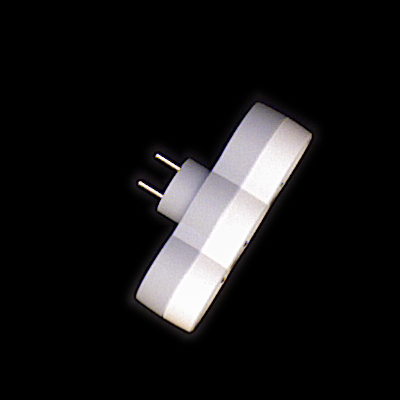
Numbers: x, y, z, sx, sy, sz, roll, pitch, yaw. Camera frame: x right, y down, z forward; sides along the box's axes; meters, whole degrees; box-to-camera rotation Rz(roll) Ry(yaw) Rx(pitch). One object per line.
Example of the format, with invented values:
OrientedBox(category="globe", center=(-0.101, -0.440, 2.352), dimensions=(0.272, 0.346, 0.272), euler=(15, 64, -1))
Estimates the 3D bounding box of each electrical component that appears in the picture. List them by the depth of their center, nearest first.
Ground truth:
OrientedBox(category="electrical component", center=(0.000, 0.000, 0.631), dimensions=(0.074, 0.138, 0.052), euler=(31, -5, 5))
